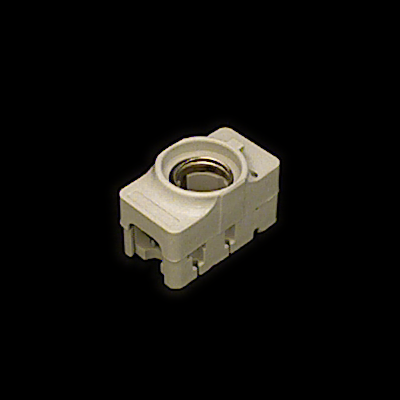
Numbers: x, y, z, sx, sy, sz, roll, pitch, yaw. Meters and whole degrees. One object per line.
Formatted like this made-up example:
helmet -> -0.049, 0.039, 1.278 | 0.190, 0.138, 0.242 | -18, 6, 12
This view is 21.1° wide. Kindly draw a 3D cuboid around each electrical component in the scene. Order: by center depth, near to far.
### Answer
electrical component -> 0.000, 0.000, 0.639 | 0.049, 0.056, 0.090 | 34, 52, 31
